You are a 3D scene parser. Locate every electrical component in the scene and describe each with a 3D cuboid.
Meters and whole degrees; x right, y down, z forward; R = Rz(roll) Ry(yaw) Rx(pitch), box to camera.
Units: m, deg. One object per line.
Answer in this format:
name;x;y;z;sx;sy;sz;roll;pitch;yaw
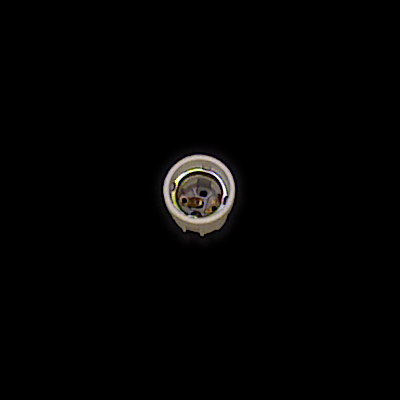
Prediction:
electrical component;0.000;0.000;0.626;0.040;0.040;0.046;0;-17;0
